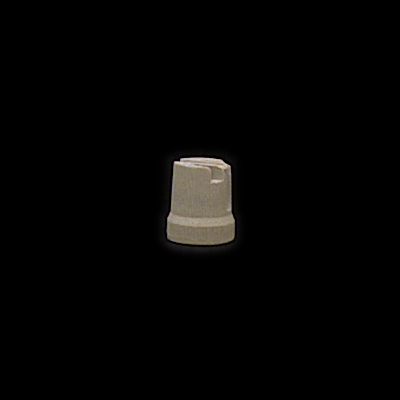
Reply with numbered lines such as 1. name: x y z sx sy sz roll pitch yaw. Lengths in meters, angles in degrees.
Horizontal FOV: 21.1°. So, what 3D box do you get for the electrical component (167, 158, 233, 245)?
1. electrical component: 0.000 0.000 0.644 0.040 0.046 0.040 1 12 0
